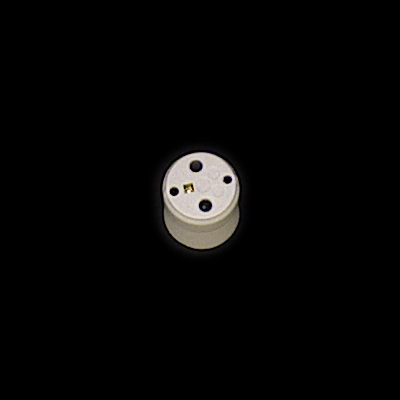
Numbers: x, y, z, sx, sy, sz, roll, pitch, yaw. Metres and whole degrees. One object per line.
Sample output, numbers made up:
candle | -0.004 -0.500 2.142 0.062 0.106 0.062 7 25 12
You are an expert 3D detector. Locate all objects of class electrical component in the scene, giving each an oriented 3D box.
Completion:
electrical component | 0.000 0.000 0.629 0.045 0.045 0.055 0 -17 0
